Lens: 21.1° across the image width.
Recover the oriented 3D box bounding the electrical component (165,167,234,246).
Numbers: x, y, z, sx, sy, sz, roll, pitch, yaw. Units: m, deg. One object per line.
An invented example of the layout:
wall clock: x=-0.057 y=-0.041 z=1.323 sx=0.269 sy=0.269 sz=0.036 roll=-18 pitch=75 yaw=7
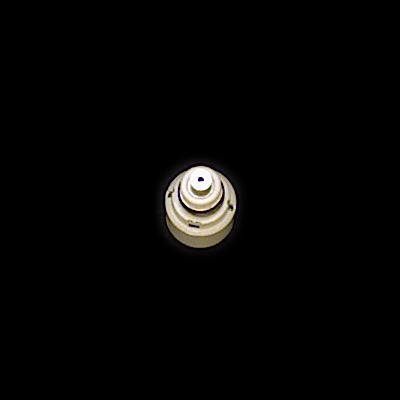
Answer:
electrical component: x=0.000 y=0.000 z=0.617 sx=0.040 sy=0.040 sz=0.078 roll=0 pitch=-17 yaw=-1
